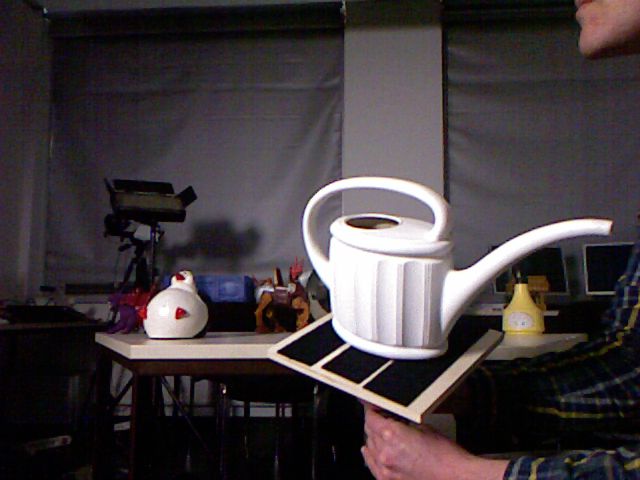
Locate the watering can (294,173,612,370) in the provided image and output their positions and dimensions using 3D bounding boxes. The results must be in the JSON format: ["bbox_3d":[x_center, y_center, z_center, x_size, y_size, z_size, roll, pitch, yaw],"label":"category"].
[{"bbox_3d":[0.110,0.043,0.561,0.351,0.222,0.106,11,26,36],"label":"watering can"}]
